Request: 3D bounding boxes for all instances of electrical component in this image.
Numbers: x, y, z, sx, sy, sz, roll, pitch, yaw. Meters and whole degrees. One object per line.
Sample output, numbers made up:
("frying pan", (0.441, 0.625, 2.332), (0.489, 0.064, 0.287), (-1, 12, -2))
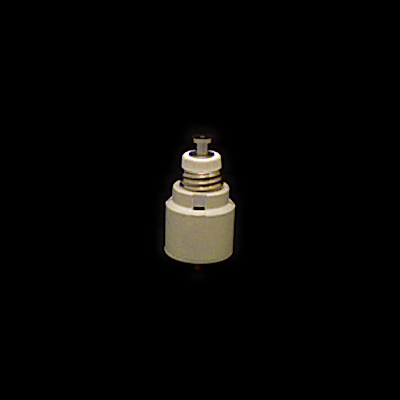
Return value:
("electrical component", (0.000, 0.000, 0.635), (0.040, 0.079, 0.039), (2, 21, 0))
